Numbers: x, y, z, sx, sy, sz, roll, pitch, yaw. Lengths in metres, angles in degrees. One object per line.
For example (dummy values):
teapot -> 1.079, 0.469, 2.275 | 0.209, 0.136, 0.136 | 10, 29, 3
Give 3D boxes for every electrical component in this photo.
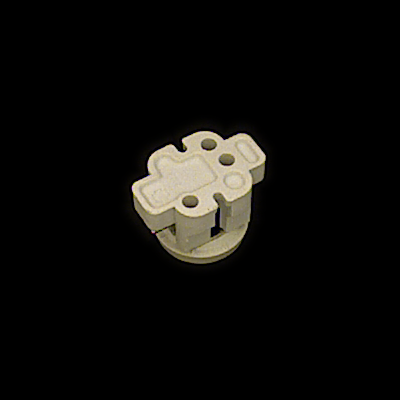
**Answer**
electrical component -> 0.000, 0.000, 0.635 | 0.079, 0.057, 0.057 | -27, -32, -18
